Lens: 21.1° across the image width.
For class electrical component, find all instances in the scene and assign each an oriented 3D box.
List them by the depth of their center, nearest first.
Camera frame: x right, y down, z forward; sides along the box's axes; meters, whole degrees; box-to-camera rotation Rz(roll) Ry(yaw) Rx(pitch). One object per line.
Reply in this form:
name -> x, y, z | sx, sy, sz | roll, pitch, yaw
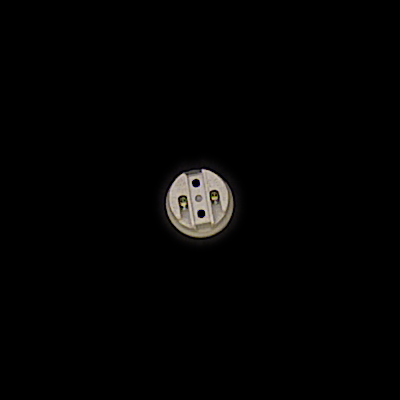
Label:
electrical component -> 0.000, 0.000, 0.634 | 0.040, 0.040, 0.046 | 0, -6, 1
